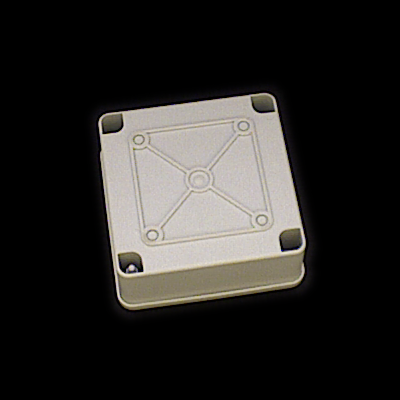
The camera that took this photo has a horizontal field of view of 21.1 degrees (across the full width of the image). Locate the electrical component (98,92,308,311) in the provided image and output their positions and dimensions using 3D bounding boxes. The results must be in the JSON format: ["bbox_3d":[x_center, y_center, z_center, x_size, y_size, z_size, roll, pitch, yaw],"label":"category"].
[{"bbox_3d":[0.000,0.000,0.627,0.109,0.109,0.056,-8,-27,-4],"label":"electrical component"}]
